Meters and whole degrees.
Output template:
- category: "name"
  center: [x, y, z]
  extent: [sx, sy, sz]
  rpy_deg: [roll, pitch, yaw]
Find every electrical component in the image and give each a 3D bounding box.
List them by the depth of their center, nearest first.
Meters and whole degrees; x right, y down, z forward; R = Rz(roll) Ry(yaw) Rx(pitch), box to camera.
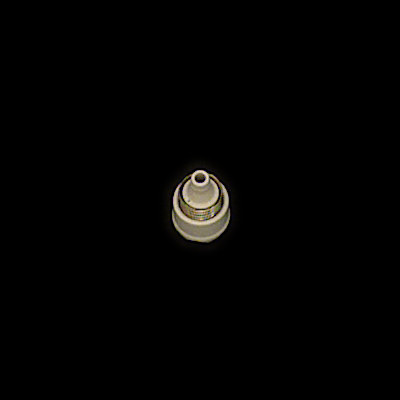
- category: "electrical component"
  center: [0.000, 0.000, 0.638]
  extent: [0.035, 0.035, 0.061]
  rpy_deg: [0, -25, 1]
